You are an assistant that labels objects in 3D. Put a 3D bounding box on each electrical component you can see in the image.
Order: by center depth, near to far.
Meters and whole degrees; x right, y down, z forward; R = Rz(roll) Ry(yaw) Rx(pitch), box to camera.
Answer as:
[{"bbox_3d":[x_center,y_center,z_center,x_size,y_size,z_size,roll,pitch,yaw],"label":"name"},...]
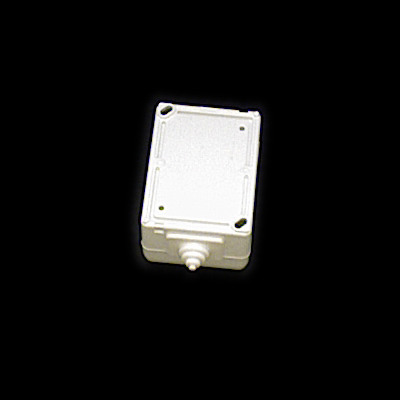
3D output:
[{"bbox_3d":[0.000,0.000,0.622,0.062,0.097,0.060,5,-28,2],"label":"electrical component"}]
